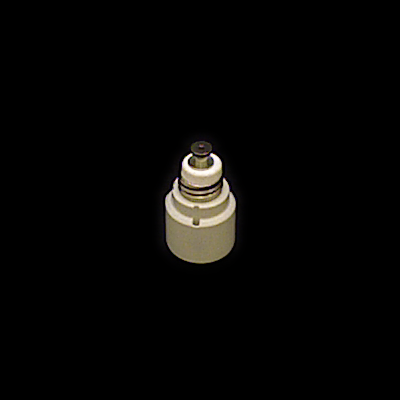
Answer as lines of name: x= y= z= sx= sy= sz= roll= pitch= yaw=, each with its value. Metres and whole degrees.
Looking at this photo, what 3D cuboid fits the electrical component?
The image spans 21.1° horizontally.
electrical component: x=0.000 y=0.000 z=0.626 sx=0.040 sy=0.079 sz=0.039 roll=1 pitch=43 yaw=0
